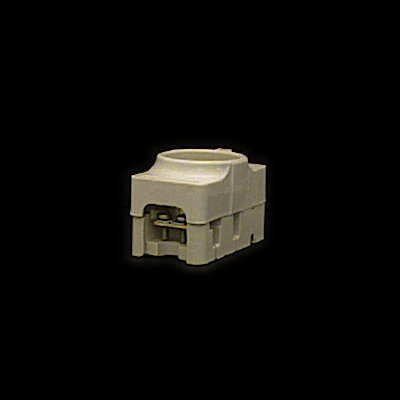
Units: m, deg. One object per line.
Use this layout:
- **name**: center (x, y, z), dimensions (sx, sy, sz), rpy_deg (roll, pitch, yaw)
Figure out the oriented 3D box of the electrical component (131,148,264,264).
- **electrical component**: center (0.000, 0.000, 0.651), dimensions (0.050, 0.056, 0.089), rpy_deg (7, 13, 26)
